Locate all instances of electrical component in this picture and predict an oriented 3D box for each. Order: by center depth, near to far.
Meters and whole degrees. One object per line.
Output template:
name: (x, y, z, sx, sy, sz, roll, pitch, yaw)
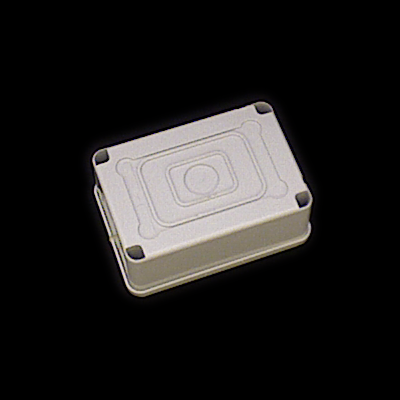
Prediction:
electrical component: (0.000, 0.000, 0.628, 0.113, 0.078, 0.057, -18, -26, -8)
